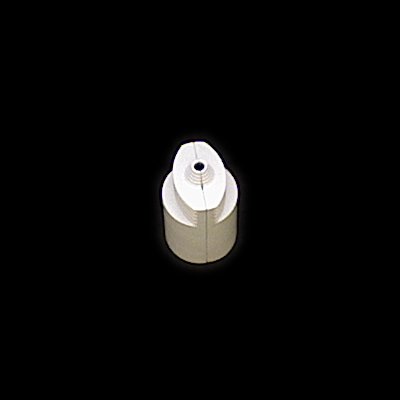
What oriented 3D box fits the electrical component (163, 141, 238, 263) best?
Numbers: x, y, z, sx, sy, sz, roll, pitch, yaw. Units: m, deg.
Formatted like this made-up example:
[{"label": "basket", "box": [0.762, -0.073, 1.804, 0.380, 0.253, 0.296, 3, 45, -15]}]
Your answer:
[{"label": "electrical component", "box": [0.000, 0.000, 0.618, 0.043, 0.043, 0.081, 0, -27, 0]}]
